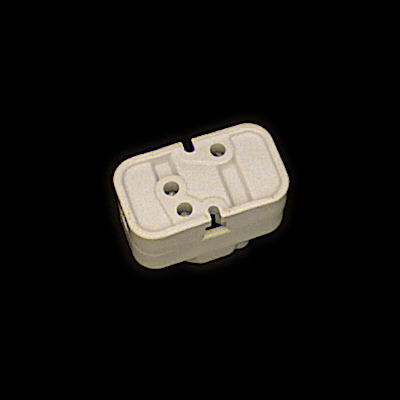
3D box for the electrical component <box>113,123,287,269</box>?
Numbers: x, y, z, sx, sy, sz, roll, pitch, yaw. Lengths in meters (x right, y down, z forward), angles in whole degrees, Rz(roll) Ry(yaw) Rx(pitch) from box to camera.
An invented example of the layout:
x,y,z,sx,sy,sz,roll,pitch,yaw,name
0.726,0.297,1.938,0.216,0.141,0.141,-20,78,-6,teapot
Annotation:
x,y,z,sx,sy,sz,roll,pitch,yaw,name
0.000,0.000,0.634,0.095,0.053,0.059,-17,-25,-9,electrical component
